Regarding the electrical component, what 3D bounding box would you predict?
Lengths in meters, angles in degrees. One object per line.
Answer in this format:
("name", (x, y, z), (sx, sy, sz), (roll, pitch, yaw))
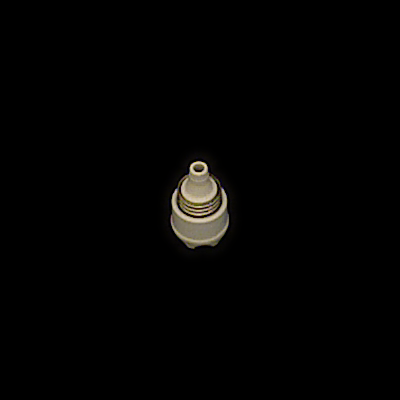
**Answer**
("electrical component", (0.000, 0.000, 0.639), (0.035, 0.035, 0.062), (0, -39, 0))
